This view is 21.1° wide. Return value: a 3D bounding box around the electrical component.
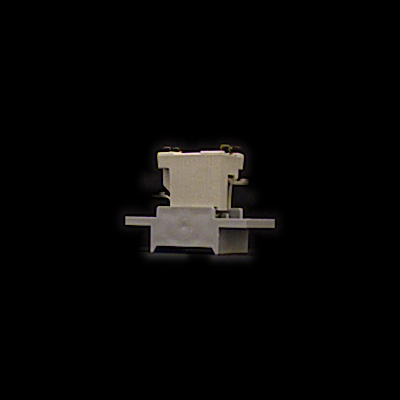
[{"bbox_3d":[0.000,0.000,0.649,0.080,0.064,0.042,2,1,26],"label":"electrical component"}]
